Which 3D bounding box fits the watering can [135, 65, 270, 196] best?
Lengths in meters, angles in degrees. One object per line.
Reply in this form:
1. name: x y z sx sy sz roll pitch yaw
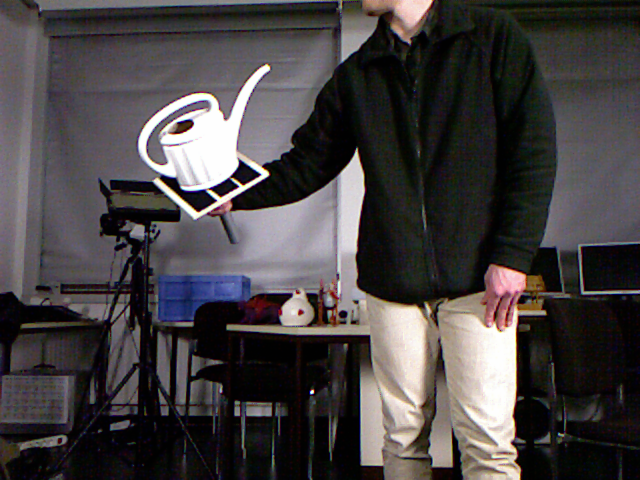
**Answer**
1. watering can: -0.237 -0.237 1.158 0.351 0.219 0.106 -33 49 -18
